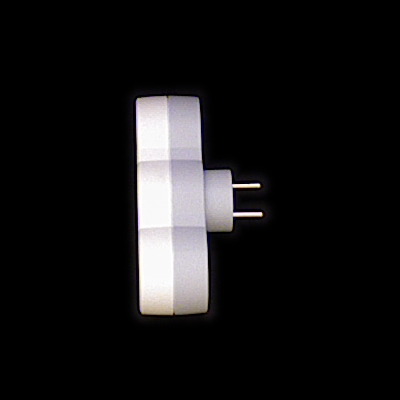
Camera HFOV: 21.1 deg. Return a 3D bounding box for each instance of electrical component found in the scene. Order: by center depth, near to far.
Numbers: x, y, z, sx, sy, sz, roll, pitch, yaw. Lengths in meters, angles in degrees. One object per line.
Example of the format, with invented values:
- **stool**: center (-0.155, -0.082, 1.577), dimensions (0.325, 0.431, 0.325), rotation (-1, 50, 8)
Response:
- **electrical component**: center (0.000, 0.000, 0.632), dimensions (0.074, 0.138, 0.052), rotation (-2, -28, -3)
